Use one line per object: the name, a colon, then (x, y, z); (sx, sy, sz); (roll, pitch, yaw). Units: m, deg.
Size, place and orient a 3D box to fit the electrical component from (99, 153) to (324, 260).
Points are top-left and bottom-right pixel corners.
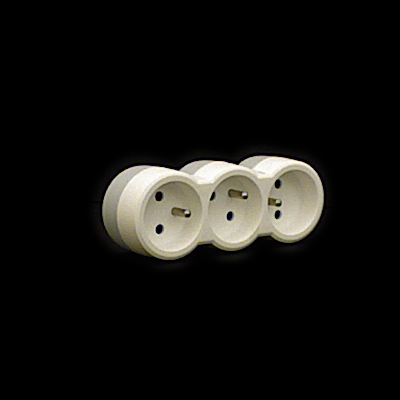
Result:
electrical component: (0.000, 0.000, 0.655); (0.139, 0.052, 0.072); (-7, 12, -34)
